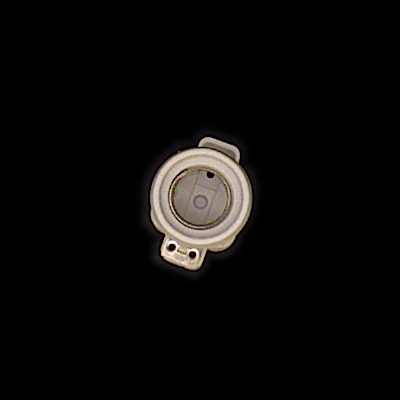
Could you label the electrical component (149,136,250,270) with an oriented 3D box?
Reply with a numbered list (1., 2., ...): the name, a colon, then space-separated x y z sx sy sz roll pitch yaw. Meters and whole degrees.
1. electrical component: 0.000 0.000 0.629 0.058 0.079 0.056 20 -6 2
